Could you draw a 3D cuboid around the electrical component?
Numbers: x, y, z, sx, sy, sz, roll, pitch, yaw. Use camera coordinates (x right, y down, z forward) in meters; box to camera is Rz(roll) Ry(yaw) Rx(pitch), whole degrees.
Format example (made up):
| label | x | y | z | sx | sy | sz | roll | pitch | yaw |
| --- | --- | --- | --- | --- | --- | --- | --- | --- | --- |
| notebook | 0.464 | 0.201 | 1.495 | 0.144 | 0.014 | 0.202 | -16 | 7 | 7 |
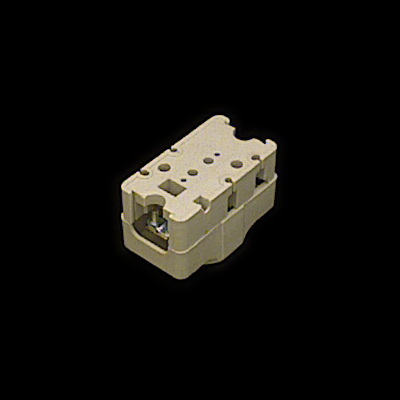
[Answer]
| label | x | y | z | sx | sy | sz | roll | pitch | yaw |
| --- | --- | --- | --- | --- | --- | --- | --- | --- | --- |
| electrical component | 0.000 | 0.000 | 0.639 | 0.049 | 0.056 | 0.090 | 30 | 51 | 28 |
